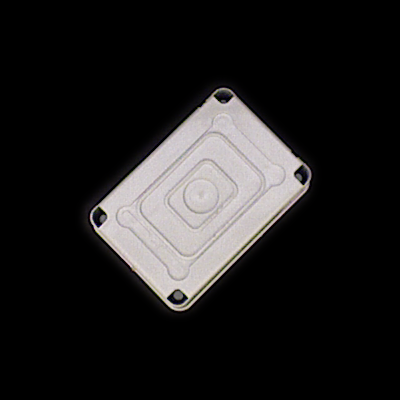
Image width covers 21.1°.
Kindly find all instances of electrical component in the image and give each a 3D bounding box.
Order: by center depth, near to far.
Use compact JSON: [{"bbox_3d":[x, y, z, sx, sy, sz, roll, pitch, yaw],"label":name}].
[{"bbox_3d":[0.000,0.000,0.628,0.113,0.078,0.057,-44,-5,-4],"label":"electrical component"}]
